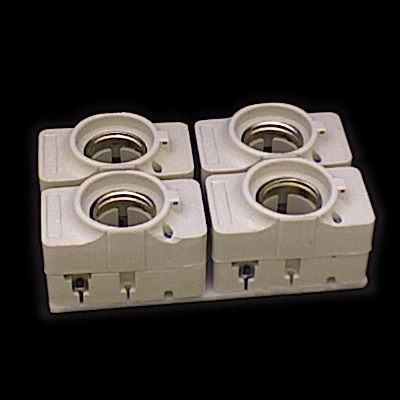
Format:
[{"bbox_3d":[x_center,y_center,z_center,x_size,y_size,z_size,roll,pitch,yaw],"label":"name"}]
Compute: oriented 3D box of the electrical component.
[{"bbox_3d":[0.000,0.000,0.631,0.186,0.061,0.104,-4,42,-6],"label":"electrical component"}]
